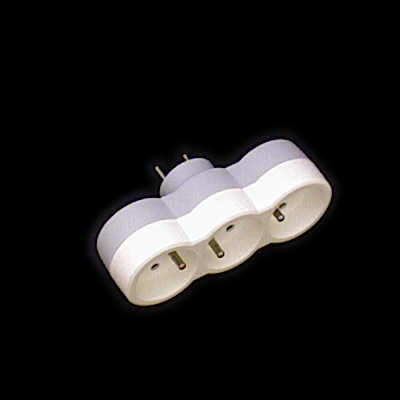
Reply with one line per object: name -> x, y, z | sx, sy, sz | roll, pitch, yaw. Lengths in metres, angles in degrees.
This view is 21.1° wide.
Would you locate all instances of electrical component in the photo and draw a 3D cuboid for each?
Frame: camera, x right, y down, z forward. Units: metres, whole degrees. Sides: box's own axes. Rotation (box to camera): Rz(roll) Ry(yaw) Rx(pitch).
electrical component -> 0.000, 0.000, 0.630 | 0.138, 0.073, 0.052 | -25, -35, -17
